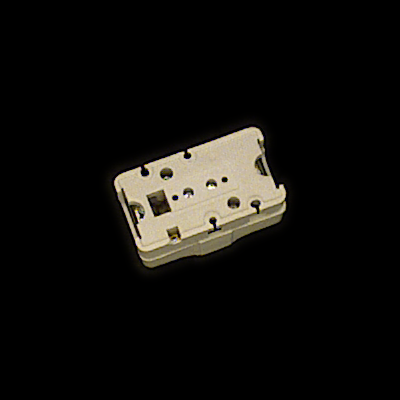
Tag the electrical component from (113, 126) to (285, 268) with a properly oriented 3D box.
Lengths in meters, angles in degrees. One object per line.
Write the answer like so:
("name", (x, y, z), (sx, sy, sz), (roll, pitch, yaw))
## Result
("electrical component", (0.000, 0.000, 0.636), (0.090, 0.050, 0.055), (-20, -15, -5))
